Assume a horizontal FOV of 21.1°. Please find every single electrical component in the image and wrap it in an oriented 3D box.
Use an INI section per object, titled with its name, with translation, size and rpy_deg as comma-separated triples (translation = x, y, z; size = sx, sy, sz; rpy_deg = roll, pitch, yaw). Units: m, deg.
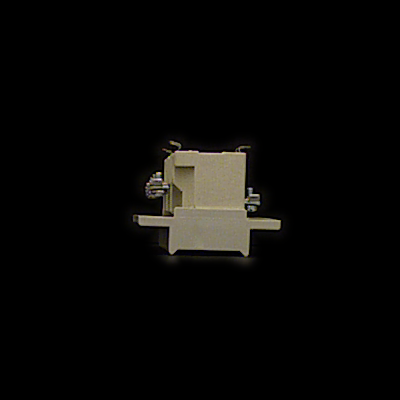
[electrical component]
translation = 0.001, 0.000, 0.658
size = 0.079, 0.063, 0.121
rpy_deg = 2, 0, -5
